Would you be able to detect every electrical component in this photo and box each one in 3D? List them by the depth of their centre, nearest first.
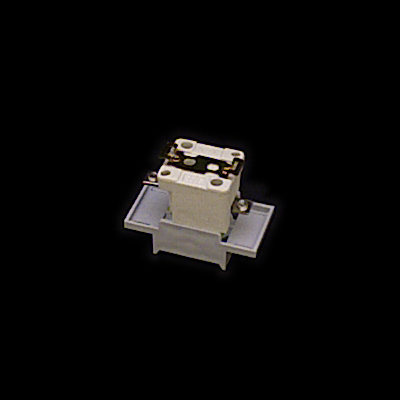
[{"bbox_3d":[0.000,0.000,0.630,0.081,0.064,0.042,12,43,12],"label":"electrical component"}]
